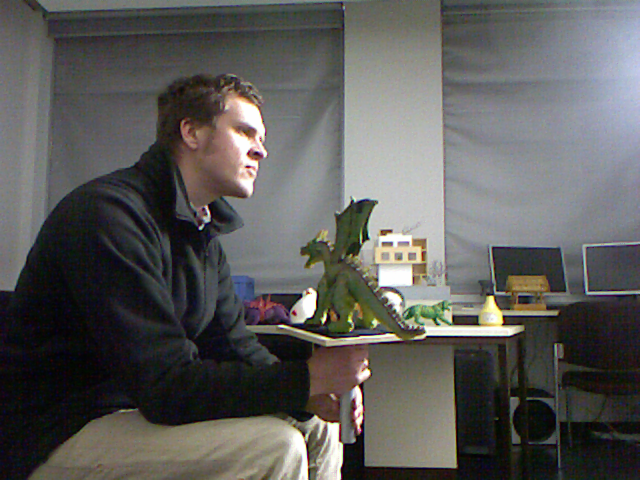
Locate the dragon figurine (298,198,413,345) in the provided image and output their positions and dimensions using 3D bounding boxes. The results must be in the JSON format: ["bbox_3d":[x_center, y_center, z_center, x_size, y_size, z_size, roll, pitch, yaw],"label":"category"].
[{"bbox_3d":[0.058,0.043,0.943,0.122,0.244,0.409,1,-3,-26],"label":"dragon figurine"}]
